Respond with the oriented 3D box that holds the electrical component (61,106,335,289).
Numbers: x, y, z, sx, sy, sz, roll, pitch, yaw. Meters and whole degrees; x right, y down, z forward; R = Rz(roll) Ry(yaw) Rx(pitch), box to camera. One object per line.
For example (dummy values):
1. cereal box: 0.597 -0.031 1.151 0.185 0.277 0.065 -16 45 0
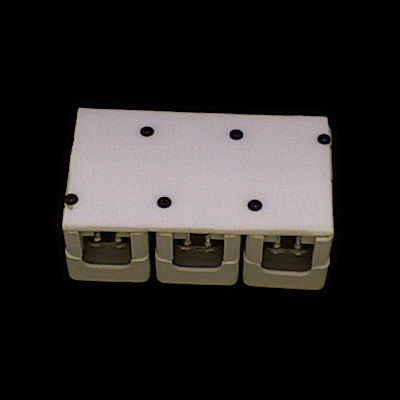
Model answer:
1. electrical component: 0.000 0.000 0.635 0.150 0.088 0.063 2 -38 1
